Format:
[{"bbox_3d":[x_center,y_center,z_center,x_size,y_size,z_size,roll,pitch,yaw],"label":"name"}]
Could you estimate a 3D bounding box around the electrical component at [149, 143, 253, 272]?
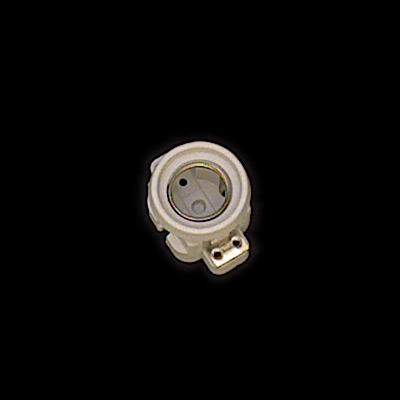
[{"bbox_3d":[0.000,0.000,0.628,0.058,0.078,0.056,-31,-14,-9],"label":"electrical component"}]
